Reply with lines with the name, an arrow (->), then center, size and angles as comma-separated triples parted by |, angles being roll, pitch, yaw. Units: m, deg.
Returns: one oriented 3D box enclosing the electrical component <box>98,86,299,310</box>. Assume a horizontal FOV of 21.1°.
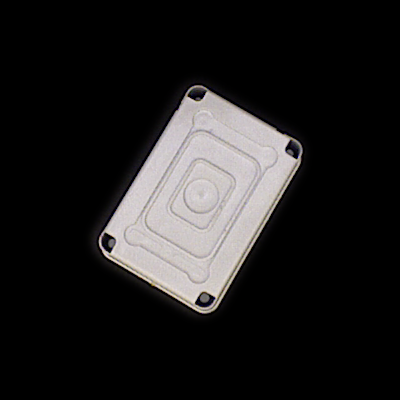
electrical component -> 0.000, 0.000, 0.628 | 0.078, 0.113, 0.057 | 30, -5, 3
